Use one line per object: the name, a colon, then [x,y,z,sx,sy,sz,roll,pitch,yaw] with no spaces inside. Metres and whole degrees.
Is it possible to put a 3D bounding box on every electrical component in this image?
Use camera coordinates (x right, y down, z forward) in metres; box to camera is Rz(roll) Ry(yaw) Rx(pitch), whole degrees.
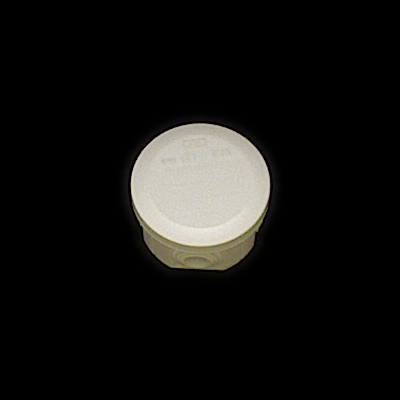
electrical component: [0.000,0.000,0.630,0.080,0.080,0.050,0,-27,0]
